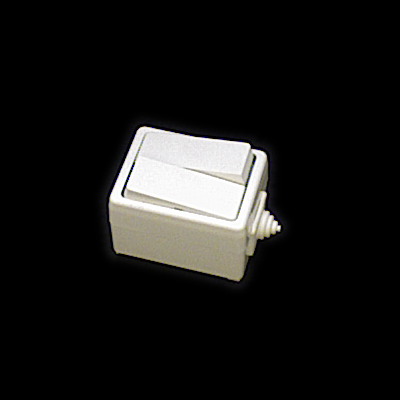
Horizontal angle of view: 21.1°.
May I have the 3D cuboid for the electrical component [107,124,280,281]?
[{"bbox_3d":[0.000,0.000,0.628,0.096,0.061,0.061,13,-37,9],"label":"electrical component"}]
